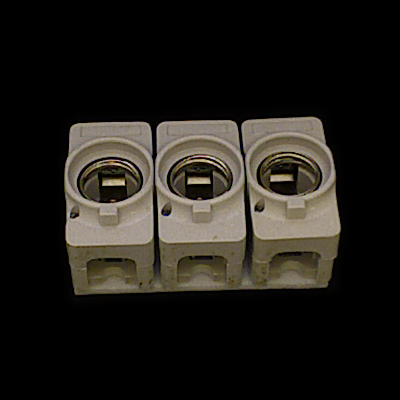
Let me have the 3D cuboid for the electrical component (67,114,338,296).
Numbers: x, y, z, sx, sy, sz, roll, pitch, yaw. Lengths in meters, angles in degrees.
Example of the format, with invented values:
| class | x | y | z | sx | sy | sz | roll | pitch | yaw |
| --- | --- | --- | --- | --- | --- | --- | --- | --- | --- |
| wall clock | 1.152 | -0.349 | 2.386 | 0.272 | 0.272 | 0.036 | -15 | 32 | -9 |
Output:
| class | x | y | z | sx | sy | sz | roll | pitch | yaw |
| --- | --- | --- | --- | --- | --- | --- | --- | --- | --- |
| electrical component | 0.000 | 0.000 | 0.633 | 0.150 | 0.088 | 0.062 | -2 | -37 | -2 |
